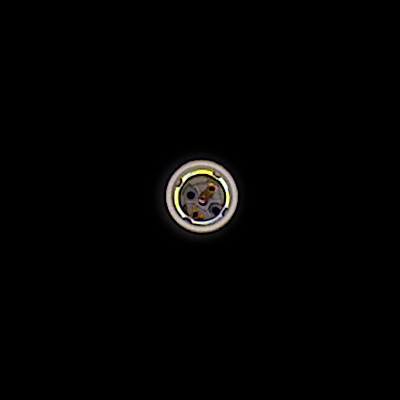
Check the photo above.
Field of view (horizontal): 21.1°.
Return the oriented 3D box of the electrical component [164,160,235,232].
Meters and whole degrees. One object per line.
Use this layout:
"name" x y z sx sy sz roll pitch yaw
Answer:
"electrical component" 0.000 0.000 0.627 0.040 0.040 0.046 0 -6 0
